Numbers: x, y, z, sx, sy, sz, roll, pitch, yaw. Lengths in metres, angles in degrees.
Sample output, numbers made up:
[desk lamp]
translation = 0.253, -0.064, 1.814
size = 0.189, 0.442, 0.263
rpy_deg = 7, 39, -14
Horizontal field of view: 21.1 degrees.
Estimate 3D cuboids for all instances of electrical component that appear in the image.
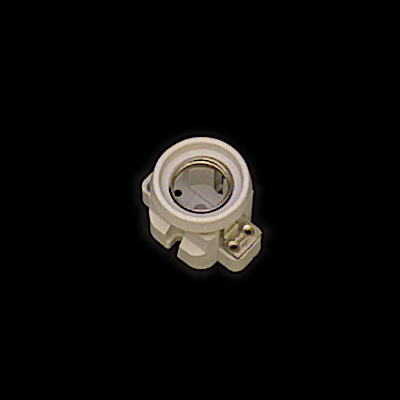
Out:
[electrical component]
translation = 0.000, 0.000, 0.628
size = 0.078, 0.058, 0.057
rpy_deg = 37, -21, 17
